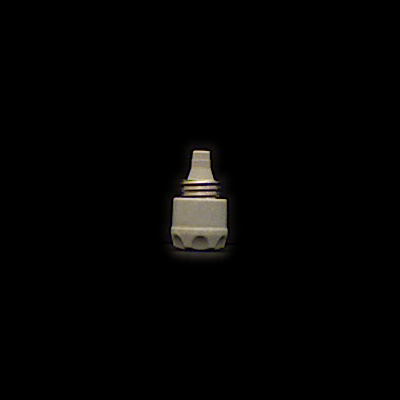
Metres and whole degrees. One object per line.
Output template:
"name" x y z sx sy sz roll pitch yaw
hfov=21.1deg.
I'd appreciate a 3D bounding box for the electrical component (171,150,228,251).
"electrical component" 0.000 0.000 0.664 0.035 0.061 0.035 1 3 0
